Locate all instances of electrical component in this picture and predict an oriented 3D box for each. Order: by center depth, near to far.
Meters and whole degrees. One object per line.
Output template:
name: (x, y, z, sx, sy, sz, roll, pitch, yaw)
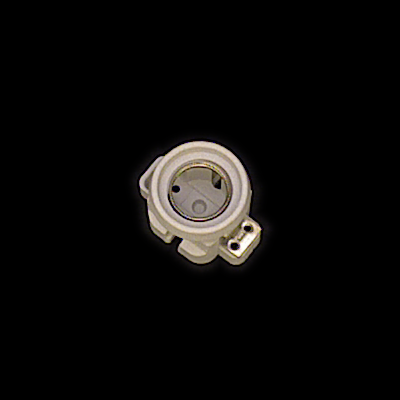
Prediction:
electrical component: (0.000, 0.000, 0.628, 0.078, 0.058, 0.056, 37, -13, 10)
